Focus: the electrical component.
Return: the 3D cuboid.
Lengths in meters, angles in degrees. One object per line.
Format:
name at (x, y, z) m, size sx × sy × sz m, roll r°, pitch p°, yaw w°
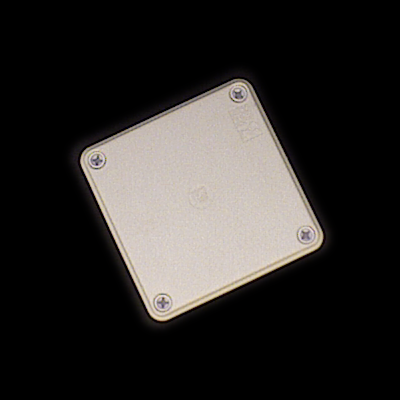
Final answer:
electrical component at (0.000, 0.000, 0.630) m, size 0.109 × 0.109 × 0.056 m, roll -25°, pitch -6°, yaw -2°
